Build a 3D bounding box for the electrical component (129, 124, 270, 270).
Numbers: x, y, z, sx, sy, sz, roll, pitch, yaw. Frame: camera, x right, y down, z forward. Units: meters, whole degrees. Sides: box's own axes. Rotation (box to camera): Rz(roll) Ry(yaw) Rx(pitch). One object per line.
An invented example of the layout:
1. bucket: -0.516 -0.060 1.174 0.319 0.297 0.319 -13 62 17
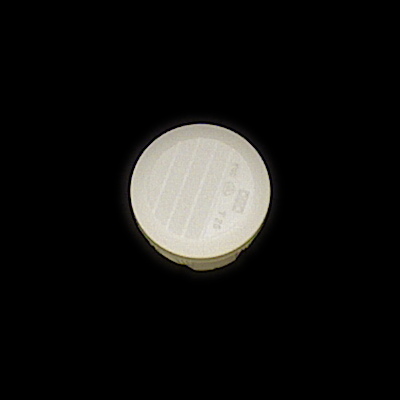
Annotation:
1. electrical component: 0.000 0.000 0.629 0.080 0.080 0.050 0 -17 0
